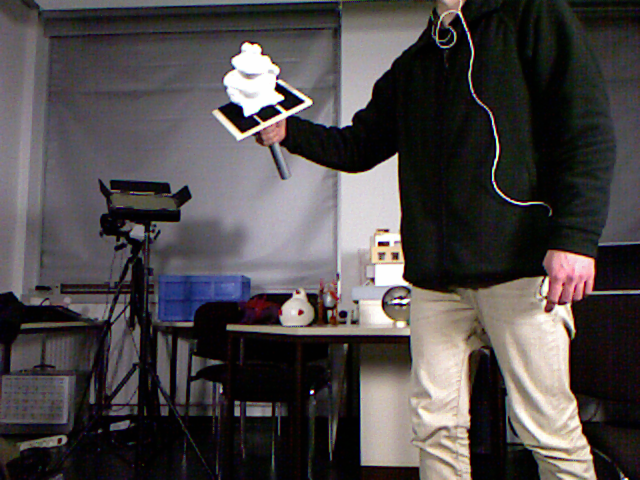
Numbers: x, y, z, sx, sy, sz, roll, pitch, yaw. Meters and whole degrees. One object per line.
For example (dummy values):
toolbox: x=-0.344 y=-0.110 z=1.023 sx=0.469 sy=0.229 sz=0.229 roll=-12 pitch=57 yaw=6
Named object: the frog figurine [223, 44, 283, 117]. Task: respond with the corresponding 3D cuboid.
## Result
frog figurine: x=-0.171 y=-0.400 z=1.248 sx=0.137 sy=0.156 sz=0.126 roll=-14 pitch=39 yaw=6
